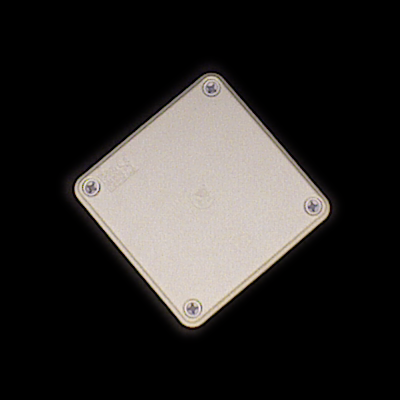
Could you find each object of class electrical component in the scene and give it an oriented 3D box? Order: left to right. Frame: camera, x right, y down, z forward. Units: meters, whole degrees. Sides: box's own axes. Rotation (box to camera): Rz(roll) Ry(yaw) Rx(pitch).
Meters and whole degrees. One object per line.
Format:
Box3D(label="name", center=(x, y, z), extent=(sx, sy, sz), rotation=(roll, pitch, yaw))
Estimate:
Box3D(label="electrical component", center=(0.000, 0.000, 0.631), extent=(0.109, 0.109, 0.056), rotation=(-40, -5, -4))
